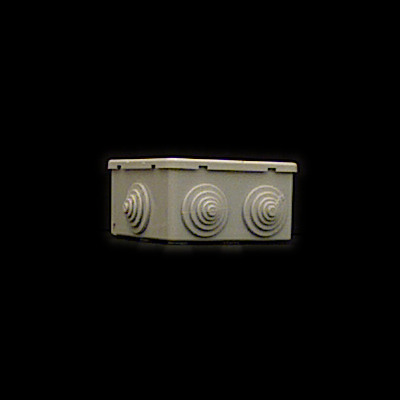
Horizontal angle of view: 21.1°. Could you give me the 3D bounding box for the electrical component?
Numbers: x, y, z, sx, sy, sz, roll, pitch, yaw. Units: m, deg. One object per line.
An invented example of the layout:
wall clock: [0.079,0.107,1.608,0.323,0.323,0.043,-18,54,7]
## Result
electrical component: [0.000,0.000,0.658,0.101,0.048,0.098,1,1,-30]
